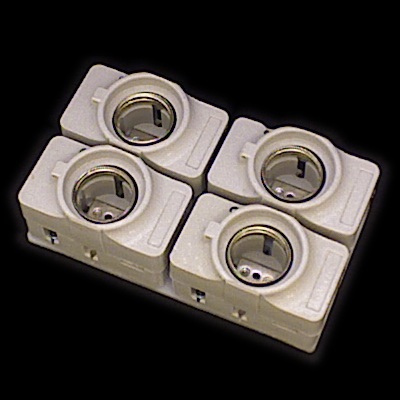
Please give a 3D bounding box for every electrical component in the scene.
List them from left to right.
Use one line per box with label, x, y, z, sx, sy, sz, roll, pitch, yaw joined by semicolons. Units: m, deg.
electrical component;0.000;0.000;0.625;0.186;0.106;0.060;21;-25;10
